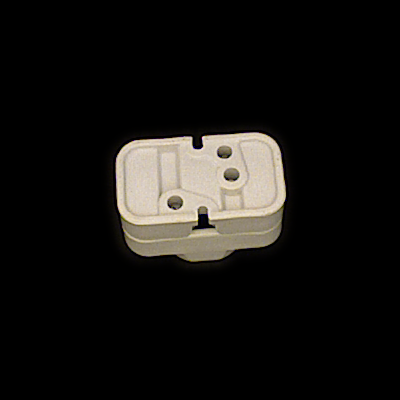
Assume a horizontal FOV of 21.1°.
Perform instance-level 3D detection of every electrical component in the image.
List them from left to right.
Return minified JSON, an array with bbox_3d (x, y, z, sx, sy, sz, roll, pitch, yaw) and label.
[{"bbox_3d":[0.000,0.000,0.636,0.095,0.053,0.059,-4,-27,-2],"label":"electrical component"}]
